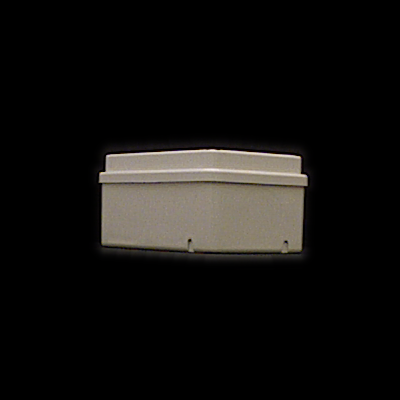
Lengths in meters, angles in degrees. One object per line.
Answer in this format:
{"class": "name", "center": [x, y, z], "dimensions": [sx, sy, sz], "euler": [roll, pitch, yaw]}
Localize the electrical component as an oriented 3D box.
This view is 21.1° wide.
{"class": "electrical component", "center": [0.000, 0.000, 0.648], "dimensions": [0.078, 0.057, 0.112], "euler": [1, 0, -39]}
